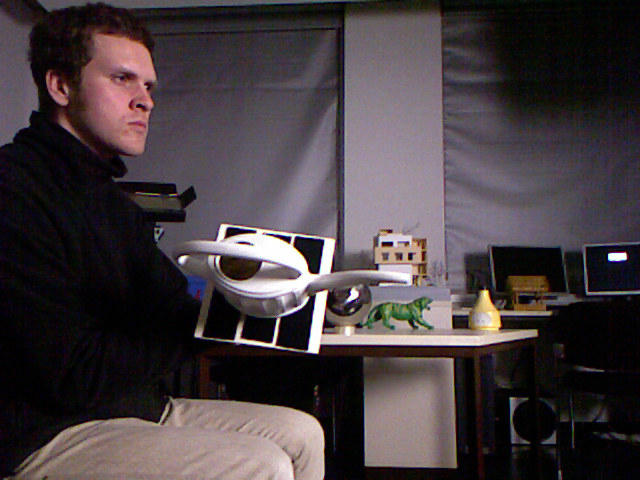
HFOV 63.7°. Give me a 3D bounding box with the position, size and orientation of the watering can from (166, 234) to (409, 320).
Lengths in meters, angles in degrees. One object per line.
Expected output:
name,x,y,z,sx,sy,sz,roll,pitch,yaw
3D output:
watering can,-0.052,0.060,0.776,0.349,0.106,0.221,9,-20,6
